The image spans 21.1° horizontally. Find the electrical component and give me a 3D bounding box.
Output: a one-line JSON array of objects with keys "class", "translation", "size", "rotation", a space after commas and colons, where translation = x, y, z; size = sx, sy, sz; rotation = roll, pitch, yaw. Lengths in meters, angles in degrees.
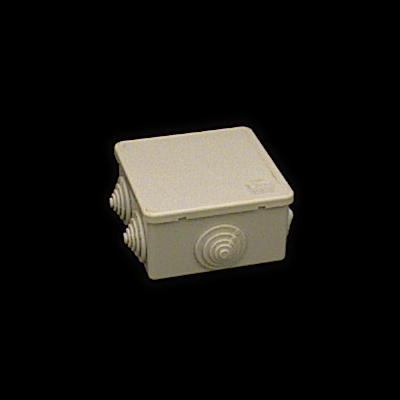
[{"class": "electrical component", "translation": [0.000, 0.000, 0.645], "size": [0.100, 0.049, 0.098], "rotation": [-8, 33, -14]}]
